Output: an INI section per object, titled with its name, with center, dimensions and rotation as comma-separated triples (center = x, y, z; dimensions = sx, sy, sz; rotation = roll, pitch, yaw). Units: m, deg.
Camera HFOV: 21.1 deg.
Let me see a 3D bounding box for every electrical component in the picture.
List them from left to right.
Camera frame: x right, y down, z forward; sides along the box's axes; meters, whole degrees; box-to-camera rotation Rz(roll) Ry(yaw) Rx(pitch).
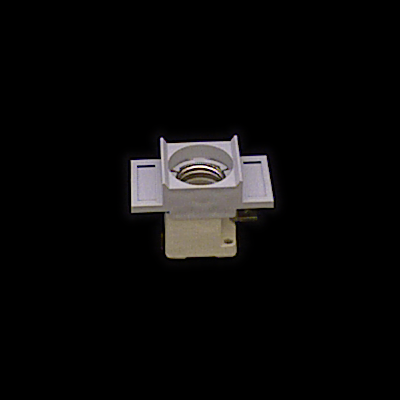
[electrical component]
center = 0.000, 0.000, 0.630
dimensions = 0.081, 0.064, 0.041
rotation = -2, 41, -2
